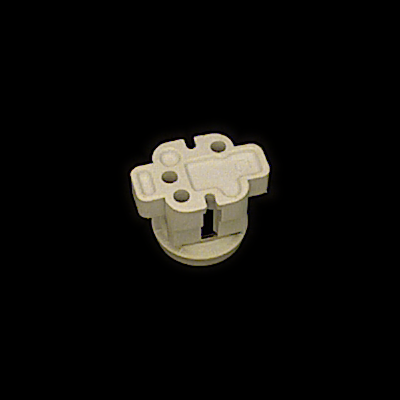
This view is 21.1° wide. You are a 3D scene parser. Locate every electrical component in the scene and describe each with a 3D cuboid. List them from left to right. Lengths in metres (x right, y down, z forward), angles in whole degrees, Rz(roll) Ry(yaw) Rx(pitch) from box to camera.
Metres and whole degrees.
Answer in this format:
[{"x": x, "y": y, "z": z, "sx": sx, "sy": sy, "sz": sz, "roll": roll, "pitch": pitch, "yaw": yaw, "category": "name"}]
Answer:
[{"x": 0.000, "y": 0.000, "z": 0.638, "sx": 0.079, "sy": 0.057, "sz": 0.057, "roll": -12, "pitch": -37, "yaw": -12, "category": "electrical component"}]
